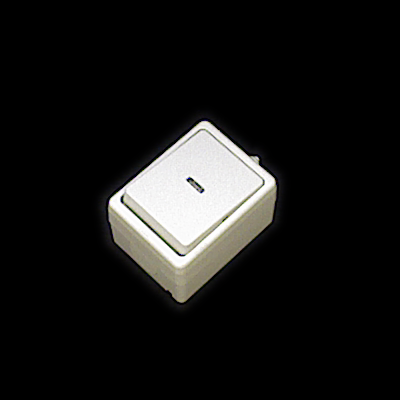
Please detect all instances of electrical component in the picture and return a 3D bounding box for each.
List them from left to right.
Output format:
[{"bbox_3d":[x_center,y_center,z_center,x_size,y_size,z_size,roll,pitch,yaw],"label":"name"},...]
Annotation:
[{"bbox_3d":[0.000,0.000,0.626,0.096,0.062,0.061,-42,-20,-19],"label":"electrical component"}]
